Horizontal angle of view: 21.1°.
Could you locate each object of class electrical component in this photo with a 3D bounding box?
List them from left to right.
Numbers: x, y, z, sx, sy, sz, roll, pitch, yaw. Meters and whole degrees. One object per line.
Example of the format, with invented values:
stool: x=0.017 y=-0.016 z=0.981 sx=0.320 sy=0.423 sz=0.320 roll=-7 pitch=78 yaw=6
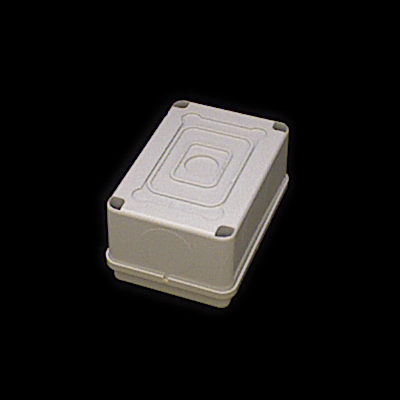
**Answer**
electrical component: x=0.000 y=0.000 z=0.631 sx=0.078 sy=0.057 sz=0.112 roll=15 pitch=44 yaw=15
